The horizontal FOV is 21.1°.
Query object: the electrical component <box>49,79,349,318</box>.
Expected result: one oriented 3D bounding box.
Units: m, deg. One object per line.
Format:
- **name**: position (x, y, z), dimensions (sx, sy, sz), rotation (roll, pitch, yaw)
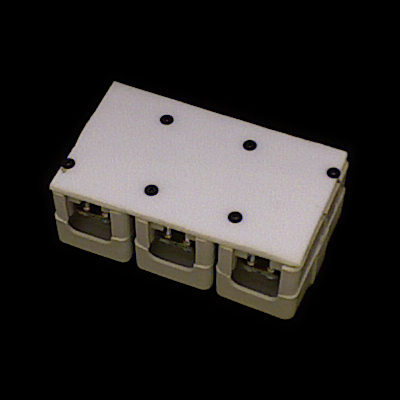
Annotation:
- **electrical component**: position (0.000, 0.000, 0.634), dimensions (0.150, 0.088, 0.062), rotation (18, -35, 13)
